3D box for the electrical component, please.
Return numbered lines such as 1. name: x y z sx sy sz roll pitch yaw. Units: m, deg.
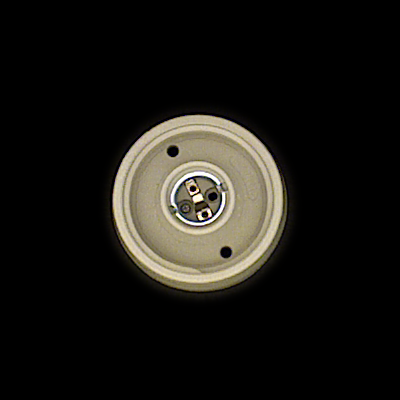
1. electrical component: 0.000 0.000 0.635 0.108 0.108 0.060 0 -6 0
